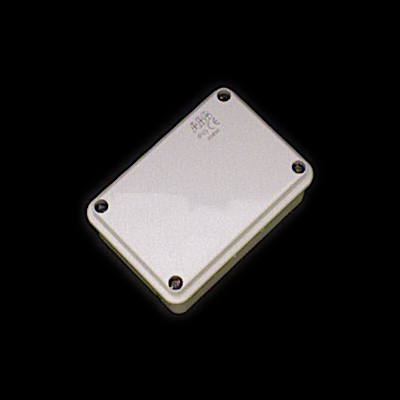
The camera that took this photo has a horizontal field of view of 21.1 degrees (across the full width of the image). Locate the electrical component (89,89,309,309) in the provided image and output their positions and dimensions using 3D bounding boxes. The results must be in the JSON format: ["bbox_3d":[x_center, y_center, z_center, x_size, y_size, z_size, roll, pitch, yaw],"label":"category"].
[{"bbox_3d":[0.000,0.000,0.627,0.113,0.078,0.057,-43,-12,-11],"label":"electrical component"}]
